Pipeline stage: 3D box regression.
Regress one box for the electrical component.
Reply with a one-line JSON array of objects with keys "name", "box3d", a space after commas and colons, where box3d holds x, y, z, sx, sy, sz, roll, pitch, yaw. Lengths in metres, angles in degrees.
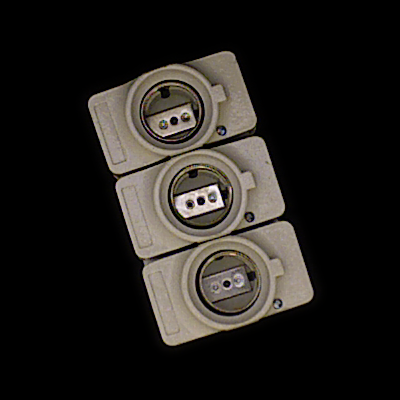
[{"name": "electrical component", "box3d": [0.000, 0.000, 0.632, 0.089, 0.150, 0.061, -18, -5, -2]}]
